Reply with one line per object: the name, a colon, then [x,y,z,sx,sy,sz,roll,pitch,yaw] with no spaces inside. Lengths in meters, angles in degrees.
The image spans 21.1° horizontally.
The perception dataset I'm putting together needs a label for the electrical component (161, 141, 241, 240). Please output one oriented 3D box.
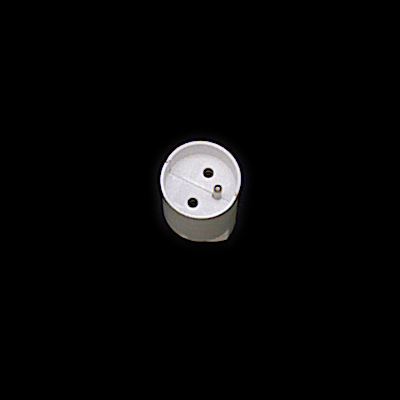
electrical component: [0.000,0.000,0.616,0.043,0.043,0.080,0,-16,0]
